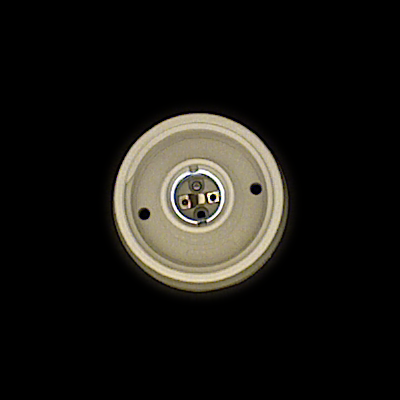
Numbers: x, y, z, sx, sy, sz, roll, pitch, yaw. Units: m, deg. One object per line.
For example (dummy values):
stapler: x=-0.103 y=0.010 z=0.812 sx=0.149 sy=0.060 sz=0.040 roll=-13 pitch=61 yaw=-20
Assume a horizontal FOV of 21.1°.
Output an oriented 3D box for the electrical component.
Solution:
electrical component: x=0.000 y=0.000 z=0.635 sx=0.108 sy=0.108 sz=0.060 roll=0 pitch=-6 yaw=0
